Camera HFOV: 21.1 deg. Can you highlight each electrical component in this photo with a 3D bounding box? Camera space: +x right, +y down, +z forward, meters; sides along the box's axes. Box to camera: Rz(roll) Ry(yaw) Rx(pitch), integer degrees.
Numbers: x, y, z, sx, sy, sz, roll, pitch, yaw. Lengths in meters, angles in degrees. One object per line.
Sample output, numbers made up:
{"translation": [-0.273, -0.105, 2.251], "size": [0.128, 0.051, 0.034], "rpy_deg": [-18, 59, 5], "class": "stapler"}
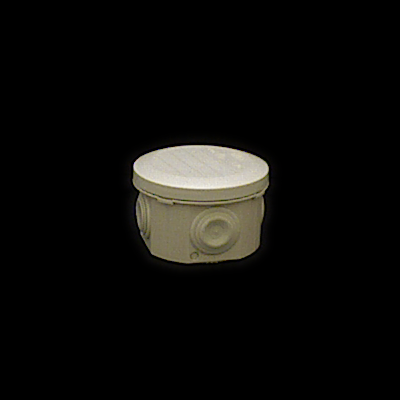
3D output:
{"translation": [0.000, 0.000, 0.638], "size": [0.080, 0.051, 0.079], "rpy_deg": [1, 21, 0], "class": "electrical component"}
